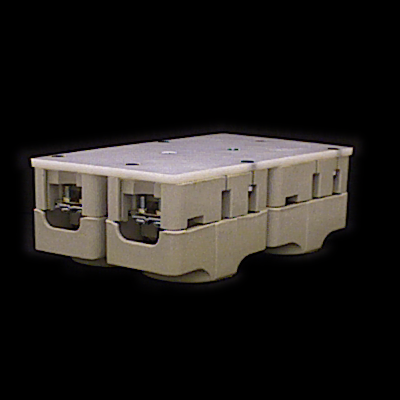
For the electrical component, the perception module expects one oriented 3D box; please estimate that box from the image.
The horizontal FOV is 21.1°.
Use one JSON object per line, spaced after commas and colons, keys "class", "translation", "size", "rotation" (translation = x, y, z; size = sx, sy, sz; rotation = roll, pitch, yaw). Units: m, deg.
{"class": "electrical component", "translation": [0.000, 0.000, 0.644], "size": [0.105, 0.061, 0.186], "rotation": [8, 12, 36]}
